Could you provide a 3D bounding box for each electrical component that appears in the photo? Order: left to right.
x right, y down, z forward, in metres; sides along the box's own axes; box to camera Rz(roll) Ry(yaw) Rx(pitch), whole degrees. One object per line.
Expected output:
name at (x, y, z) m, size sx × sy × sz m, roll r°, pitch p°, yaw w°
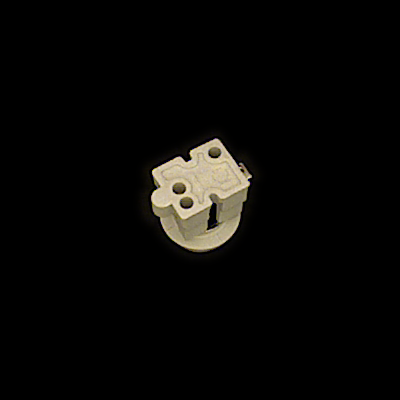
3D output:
electrical component at (0.000, 0.000, 0.637) m, size 0.067 × 0.048 × 0.055 m, roll -27°, pitch -25°, yaw -14°
